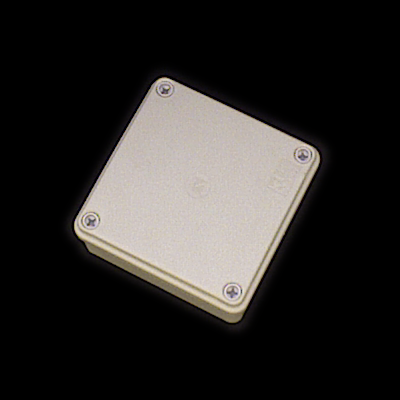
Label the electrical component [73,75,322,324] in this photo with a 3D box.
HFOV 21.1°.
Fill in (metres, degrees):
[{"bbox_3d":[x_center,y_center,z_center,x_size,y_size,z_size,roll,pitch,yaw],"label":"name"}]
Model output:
[{"bbox_3d":[0.000,0.000,0.629,0.109,0.109,0.056,26,-15,8],"label":"electrical component"}]
